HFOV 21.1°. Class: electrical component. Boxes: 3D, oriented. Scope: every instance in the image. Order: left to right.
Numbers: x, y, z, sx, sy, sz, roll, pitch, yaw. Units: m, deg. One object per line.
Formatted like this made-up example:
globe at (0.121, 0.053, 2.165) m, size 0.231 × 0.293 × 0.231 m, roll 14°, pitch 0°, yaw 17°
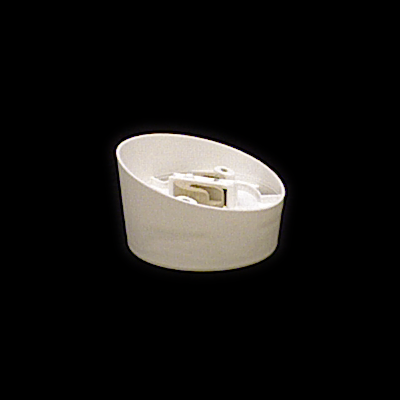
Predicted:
electrical component at (0.000, 0.000, 0.637) m, size 0.099 × 0.065 × 0.097 m, roll 0°, pitch 21°, yaw 0°
